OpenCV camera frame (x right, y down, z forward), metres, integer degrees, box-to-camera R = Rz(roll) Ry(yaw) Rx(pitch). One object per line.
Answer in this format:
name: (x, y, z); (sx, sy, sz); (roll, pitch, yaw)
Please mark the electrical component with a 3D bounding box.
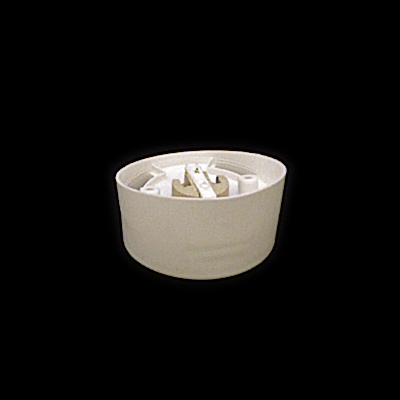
electrical component: (0.000, 0.000, 0.632); (0.099, 0.065, 0.097); (1, 32, -1)
